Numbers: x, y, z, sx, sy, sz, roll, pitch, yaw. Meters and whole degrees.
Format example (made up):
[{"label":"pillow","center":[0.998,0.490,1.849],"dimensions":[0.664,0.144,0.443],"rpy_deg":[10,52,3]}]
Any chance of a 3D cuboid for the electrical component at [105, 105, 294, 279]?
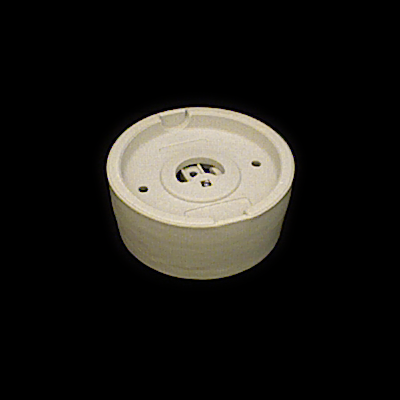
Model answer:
[{"label":"electrical component","center":[0.000,0.000,0.636],"dimensions":[0.108,0.061,0.107],"rpy_deg":[1,42,0]}]
